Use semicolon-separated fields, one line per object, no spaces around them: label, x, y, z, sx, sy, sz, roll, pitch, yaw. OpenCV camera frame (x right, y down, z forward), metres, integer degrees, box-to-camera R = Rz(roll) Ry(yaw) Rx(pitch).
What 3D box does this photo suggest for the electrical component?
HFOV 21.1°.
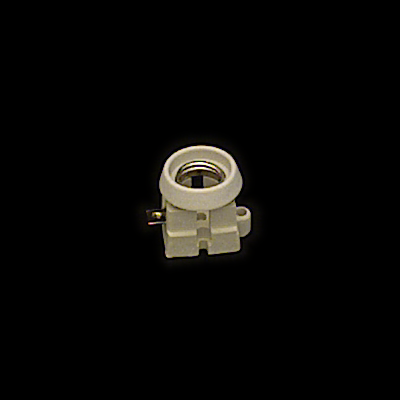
electrical component;0.000;0.000;0.639;0.067;0.056;0.048;-6;41;-7
